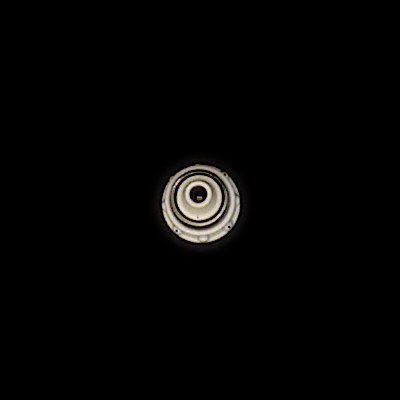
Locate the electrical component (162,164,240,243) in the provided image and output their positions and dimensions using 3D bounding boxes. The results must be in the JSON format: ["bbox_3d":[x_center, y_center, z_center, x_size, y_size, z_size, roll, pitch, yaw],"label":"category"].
[{"bbox_3d":[0.000,0.000,0.635,0.048,0.048,0.061,0,-6,1],"label":"electrical component"}]
